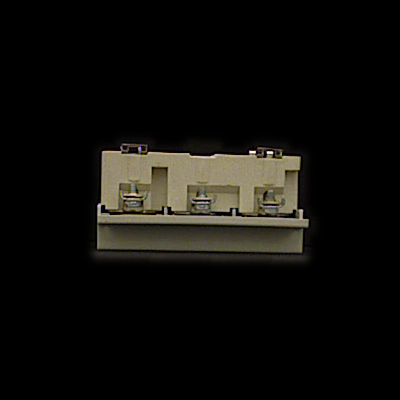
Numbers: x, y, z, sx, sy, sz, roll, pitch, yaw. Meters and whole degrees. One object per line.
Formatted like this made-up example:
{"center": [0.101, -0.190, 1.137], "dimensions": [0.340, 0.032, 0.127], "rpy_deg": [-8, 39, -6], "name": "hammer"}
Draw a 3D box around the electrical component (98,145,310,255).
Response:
{"center": [0.000, 0.000, 0.654], "dimensions": [0.122, 0.063, 0.078], "rpy_deg": [1, 1, -6], "name": "electrical component"}
